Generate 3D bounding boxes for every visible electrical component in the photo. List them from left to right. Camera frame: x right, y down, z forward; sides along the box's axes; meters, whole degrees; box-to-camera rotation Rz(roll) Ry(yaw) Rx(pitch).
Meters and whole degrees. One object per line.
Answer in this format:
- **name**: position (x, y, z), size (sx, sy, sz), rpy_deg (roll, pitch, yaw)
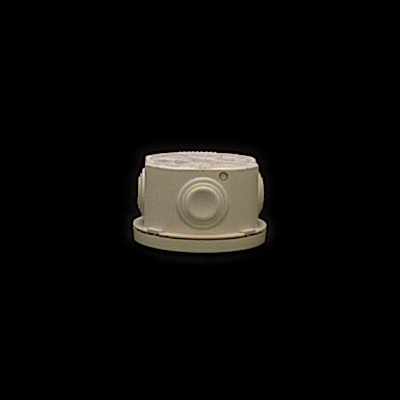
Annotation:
- **electrical component**: position (0.000, 0.000, 0.644), size (0.080, 0.051, 0.079), rpy_deg (1, 11, 0)
